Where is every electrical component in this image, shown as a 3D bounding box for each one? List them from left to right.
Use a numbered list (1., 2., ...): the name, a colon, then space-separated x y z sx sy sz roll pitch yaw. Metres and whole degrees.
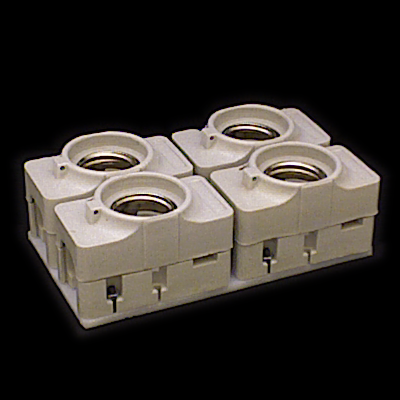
1. electrical component: 0.000 0.000 0.633 0.186 0.061 0.104 -13 34 -21
